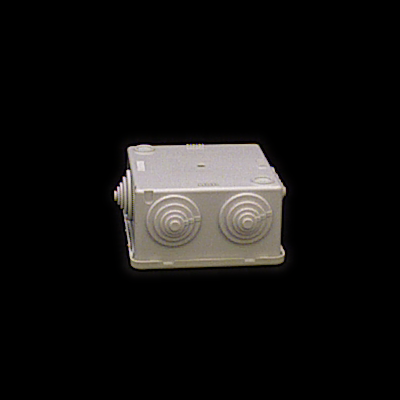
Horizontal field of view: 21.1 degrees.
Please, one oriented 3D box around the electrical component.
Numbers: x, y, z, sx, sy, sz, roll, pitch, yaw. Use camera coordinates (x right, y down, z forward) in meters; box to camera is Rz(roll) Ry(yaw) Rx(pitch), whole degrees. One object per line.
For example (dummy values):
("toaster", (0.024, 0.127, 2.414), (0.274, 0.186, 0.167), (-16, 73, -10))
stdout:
("electrical component", (0.000, 0.000, 0.640), (0.100, 0.049, 0.098), (-1, 21, -7))
